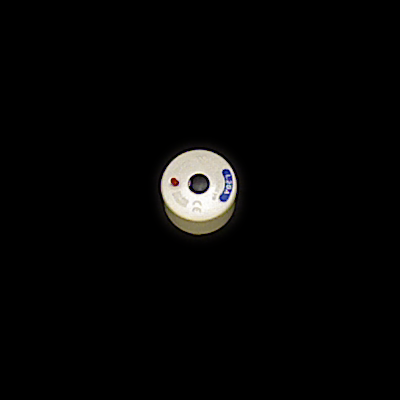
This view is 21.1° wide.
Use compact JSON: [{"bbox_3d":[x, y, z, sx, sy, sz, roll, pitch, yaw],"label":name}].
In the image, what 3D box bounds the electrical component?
[{"bbox_3d":[0.000,0.000,0.617,0.040,0.040,0.078,0,-17,1],"label":"electrical component"}]
